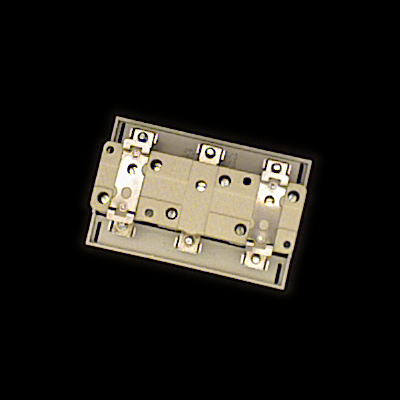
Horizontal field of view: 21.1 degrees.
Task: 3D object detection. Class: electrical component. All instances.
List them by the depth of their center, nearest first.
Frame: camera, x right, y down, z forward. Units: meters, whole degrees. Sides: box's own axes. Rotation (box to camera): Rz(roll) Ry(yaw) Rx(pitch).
[{"bbox_3d":[0.000,0.000,0.634,0.121,0.079,0.063,13,-5,2],"label":"electrical component"}]
